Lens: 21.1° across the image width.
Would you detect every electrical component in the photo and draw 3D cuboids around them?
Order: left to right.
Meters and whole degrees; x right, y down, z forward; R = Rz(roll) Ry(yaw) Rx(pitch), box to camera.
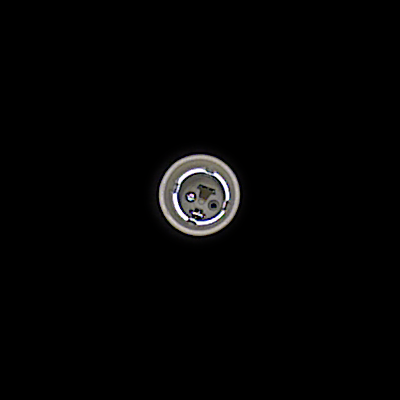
[{"bbox_3d":[0.000,0.000,0.625,0.044,0.044,0.065,0,-6,2],"label":"electrical component"}]
